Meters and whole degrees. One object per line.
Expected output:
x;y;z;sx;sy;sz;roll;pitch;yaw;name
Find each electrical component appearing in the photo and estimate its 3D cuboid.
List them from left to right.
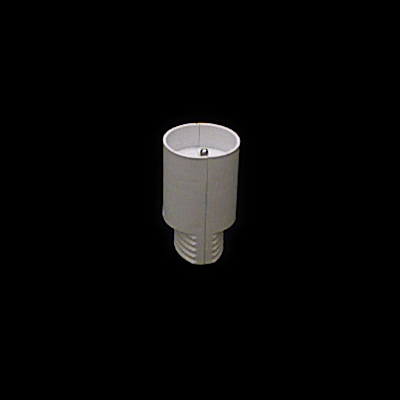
0.000;0.000;0.627;0.043;0.082;0.042;0;32;0;electrical component
